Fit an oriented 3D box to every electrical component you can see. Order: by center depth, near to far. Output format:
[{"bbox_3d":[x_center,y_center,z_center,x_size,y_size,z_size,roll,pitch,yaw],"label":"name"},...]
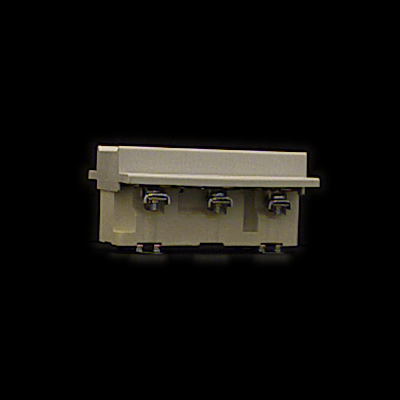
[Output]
[{"bbox_3d":[0.000,0.000,0.661,0.122,0.063,0.078,1,2,-22],"label":"electrical component"}]
